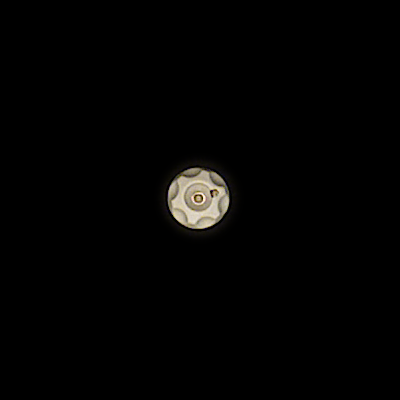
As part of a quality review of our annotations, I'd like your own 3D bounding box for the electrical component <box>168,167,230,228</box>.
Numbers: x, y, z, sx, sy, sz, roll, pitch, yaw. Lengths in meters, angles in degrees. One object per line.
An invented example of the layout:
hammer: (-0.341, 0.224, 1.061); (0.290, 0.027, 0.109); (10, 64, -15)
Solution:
electrical component: (0.000, 0.000, 0.634); (0.035, 0.035, 0.061); (0, -5, 0)
